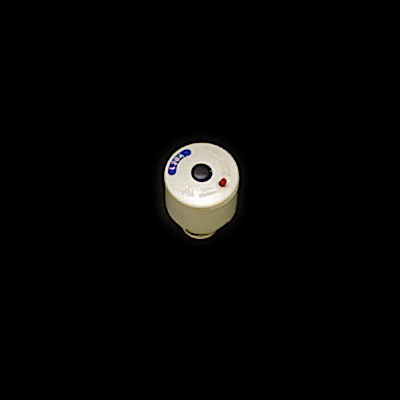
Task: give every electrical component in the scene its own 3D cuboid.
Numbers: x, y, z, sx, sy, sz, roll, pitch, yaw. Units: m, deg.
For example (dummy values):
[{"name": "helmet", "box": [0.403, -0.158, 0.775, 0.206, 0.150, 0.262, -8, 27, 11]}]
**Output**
[{"name": "electrical component", "box": [0.000, 0.000, 0.617, 0.040, 0.040, 0.078, 0, -27, -1]}]
